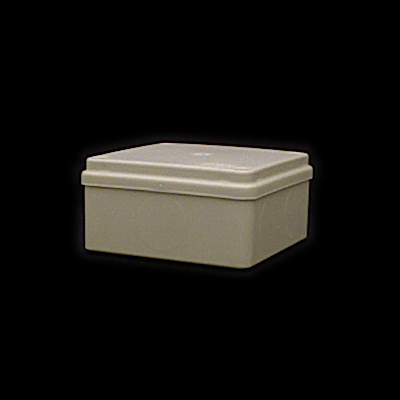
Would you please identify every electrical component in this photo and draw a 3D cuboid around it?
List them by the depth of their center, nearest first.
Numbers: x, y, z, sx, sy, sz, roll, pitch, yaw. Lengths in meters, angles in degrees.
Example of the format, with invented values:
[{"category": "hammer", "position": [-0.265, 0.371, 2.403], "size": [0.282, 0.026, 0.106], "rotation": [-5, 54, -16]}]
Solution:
[{"category": "electrical component", "position": [0.000, 0.000, 0.646], "size": [0.108, 0.056, 0.108], "rotation": [6, 11, 24]}]
